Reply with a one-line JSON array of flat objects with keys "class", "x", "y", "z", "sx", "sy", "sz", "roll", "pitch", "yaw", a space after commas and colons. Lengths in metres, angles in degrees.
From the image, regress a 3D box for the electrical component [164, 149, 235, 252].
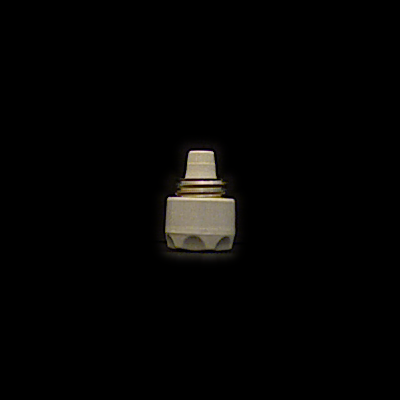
[{"class": "electrical component", "x": 0.000, "y": 0.000, "z": 0.657, "sx": 0.043, "sy": 0.062, "sz": 0.043, "roll": 1, "pitch": 1, "yaw": 1}]
